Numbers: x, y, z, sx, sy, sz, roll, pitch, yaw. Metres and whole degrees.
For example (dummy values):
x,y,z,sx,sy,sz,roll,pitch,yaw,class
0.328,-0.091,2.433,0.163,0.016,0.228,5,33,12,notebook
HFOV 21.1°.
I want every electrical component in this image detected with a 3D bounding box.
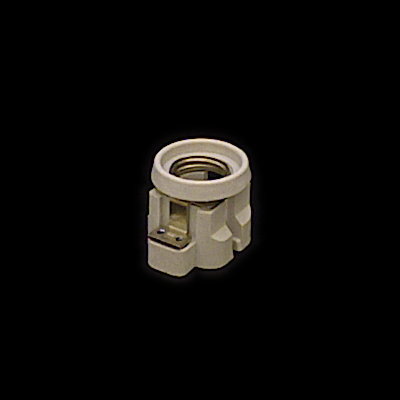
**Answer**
x,y,z,sx,sy,sz,roll,pitch,yaw,class
0.000,0.000,0.633,0.057,0.057,0.078,19,36,27,electrical component
